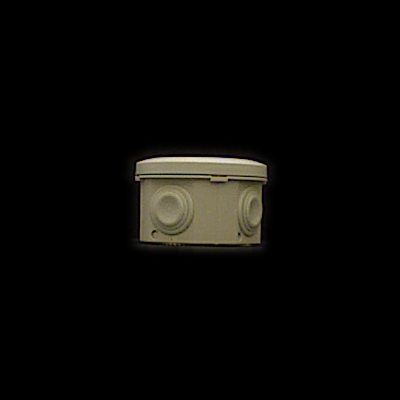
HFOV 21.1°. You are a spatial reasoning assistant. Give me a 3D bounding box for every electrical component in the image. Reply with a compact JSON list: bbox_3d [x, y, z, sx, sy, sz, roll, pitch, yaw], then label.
[{"bbox_3d":[0.000,0.000,0.652,0.080,0.051,0.080,2,0,0],"label":"electrical component"}]
